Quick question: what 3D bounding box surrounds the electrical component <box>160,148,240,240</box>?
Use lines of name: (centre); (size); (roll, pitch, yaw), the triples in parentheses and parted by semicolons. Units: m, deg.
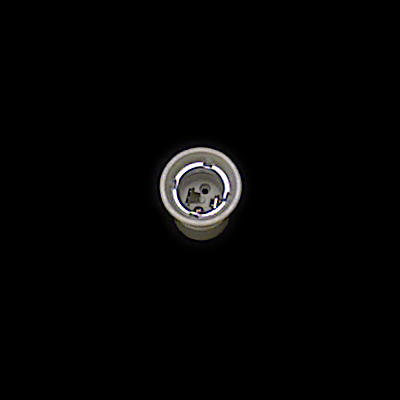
electrical component: (0.000, 0.000, 0.623); (0.044, 0.044, 0.065); (0, -16, 0)
